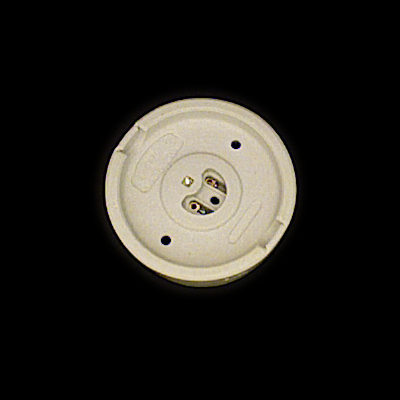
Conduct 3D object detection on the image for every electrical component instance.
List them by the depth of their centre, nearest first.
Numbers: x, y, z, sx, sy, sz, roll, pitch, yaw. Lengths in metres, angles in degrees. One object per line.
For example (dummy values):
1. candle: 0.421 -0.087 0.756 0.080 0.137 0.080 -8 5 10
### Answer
1. electrical component: 0.000 0.000 0.633 0.108 0.108 0.060 0 -16 0
